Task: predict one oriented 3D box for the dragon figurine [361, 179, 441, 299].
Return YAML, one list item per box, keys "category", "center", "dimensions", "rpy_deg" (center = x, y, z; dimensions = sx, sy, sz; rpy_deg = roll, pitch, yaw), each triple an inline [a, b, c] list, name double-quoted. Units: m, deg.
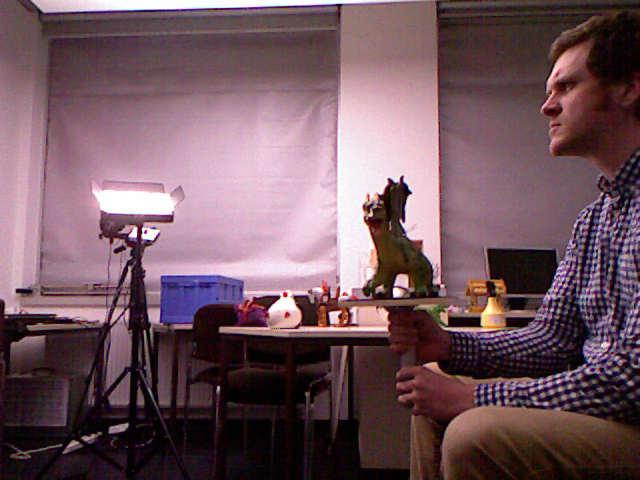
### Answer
- category: "dragon figurine"
  center: [0.174, -0.005, 1.043]
  dimensions: [0.122, 0.244, 0.410]
  rpy_deg: [-3, -4, 27]
